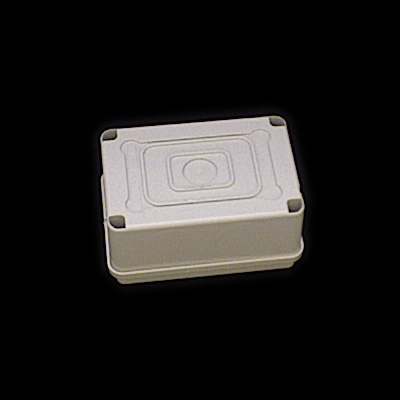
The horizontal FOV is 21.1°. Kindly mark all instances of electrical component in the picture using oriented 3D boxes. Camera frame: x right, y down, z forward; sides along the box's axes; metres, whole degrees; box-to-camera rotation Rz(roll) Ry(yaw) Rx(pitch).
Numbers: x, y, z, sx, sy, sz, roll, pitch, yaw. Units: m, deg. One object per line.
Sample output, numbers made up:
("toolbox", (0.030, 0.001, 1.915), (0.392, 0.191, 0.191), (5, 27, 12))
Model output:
("electrical component", (0.000, 0.000, 0.629), (0.113, 0.078, 0.057), (-5, -37, -4))
